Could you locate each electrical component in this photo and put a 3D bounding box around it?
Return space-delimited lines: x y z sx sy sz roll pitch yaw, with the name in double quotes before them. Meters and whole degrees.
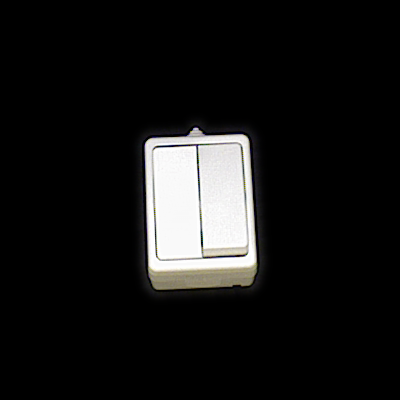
"electrical component" 0.000 0.000 0.627 0.062 0.096 0.060 -2 -17 -1
